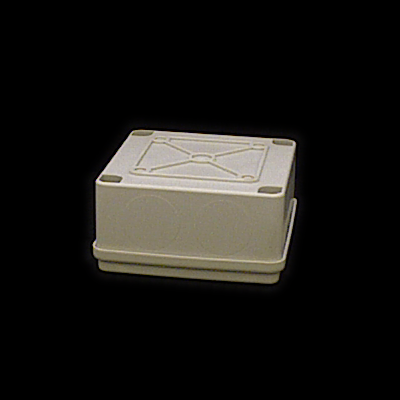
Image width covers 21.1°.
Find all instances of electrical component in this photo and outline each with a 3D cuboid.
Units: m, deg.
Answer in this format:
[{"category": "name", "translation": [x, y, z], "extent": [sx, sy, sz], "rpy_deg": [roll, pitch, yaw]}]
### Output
[{"category": "electrical component", "translation": [0.000, 0.000, 0.638], "extent": [0.108, 0.057, 0.107], "rpy_deg": [4, 22, 8]}]
